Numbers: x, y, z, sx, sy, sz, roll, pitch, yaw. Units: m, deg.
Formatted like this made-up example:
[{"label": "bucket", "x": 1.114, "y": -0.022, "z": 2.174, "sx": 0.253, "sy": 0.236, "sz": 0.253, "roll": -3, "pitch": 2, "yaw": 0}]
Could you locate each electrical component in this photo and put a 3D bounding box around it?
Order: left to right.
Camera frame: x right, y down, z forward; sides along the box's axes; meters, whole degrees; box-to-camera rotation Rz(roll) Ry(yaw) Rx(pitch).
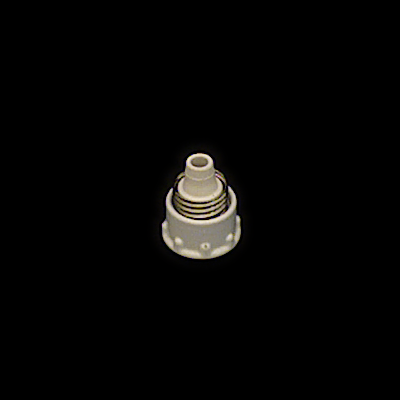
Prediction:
[{"label": "electrical component", "x": 0.000, "y": 0.000, "z": 0.637, "sx": 0.048, "sy": 0.062, "sz": 0.047, "roll": 0, "pitch": 42, "yaw": 1}]
